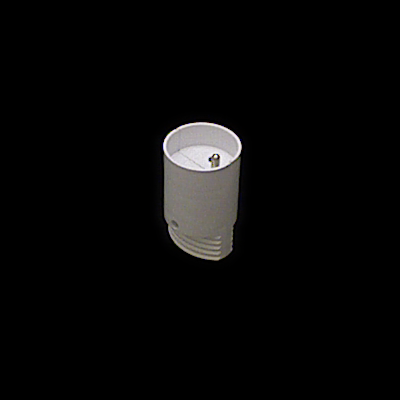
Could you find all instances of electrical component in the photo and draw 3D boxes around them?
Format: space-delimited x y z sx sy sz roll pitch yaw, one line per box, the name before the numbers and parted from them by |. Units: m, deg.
electrical component | 0.000 0.000 0.623 0.043 0.082 0.042 0 43 0
